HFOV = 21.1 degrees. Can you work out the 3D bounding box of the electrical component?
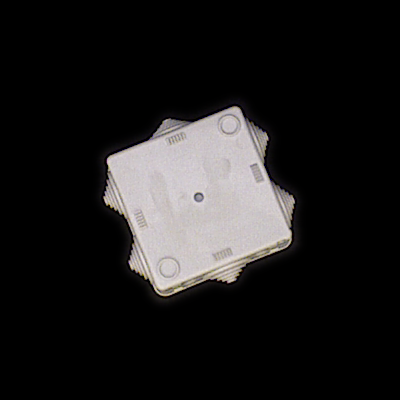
[{"bbox_3d":[0.000,0.000,0.632,0.100,0.100,0.048,-22,-6,-3],"label":"electrical component"}]
